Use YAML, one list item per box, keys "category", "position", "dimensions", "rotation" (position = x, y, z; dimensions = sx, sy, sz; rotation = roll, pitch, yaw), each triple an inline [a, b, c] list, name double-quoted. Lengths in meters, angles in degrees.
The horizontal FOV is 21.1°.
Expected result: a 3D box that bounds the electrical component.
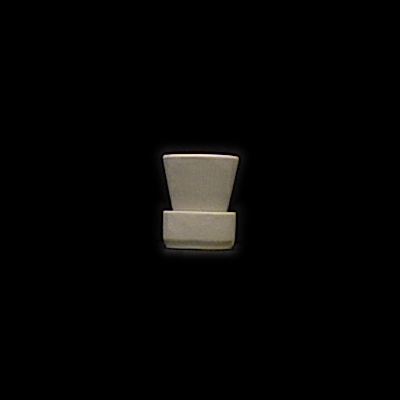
- category: "electrical component"
  position: [0.000, 0.000, 0.649]
  dimensions: [0.045, 0.055, 0.044]
  rotation: [1, 2, 0]
